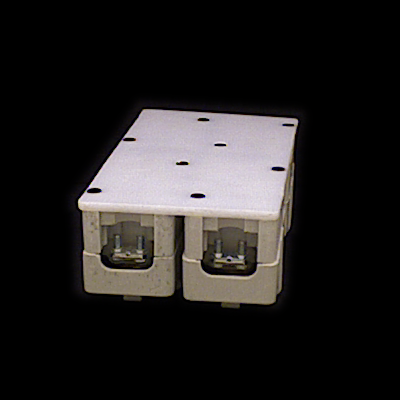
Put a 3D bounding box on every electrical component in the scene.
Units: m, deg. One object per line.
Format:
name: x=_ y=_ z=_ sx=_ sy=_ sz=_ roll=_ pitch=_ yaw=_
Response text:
electrical component: x=0.000 y=0.000 z=0.638 sx=0.105 sy=0.061 sz=0.184 roll=4 pitch=20 yaw=7
